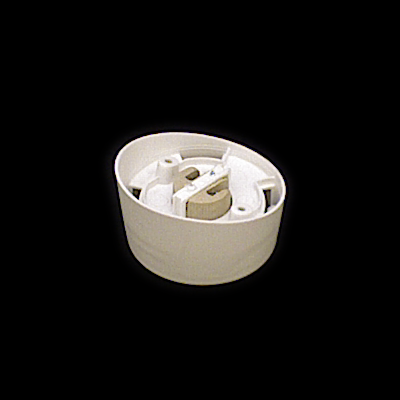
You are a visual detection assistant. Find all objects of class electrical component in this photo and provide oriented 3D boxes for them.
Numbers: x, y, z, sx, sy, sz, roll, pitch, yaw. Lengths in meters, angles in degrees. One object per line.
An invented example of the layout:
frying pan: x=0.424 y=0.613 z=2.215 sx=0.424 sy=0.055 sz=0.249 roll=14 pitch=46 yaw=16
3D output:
electrical component: x=0.000 y=0.000 z=0.628 sx=0.099 sy=0.064 sz=0.098 roll=0 pitch=43 yaw=0
